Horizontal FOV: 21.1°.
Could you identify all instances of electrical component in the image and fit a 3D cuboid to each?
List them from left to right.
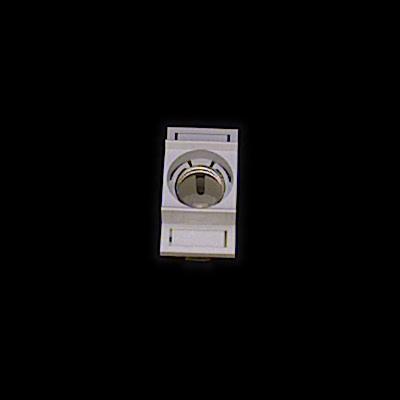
[{"bbox_3d":[0.000,0.000,0.623,0.042,0.081,0.063,3,-27,0],"label":"electrical component"}]
